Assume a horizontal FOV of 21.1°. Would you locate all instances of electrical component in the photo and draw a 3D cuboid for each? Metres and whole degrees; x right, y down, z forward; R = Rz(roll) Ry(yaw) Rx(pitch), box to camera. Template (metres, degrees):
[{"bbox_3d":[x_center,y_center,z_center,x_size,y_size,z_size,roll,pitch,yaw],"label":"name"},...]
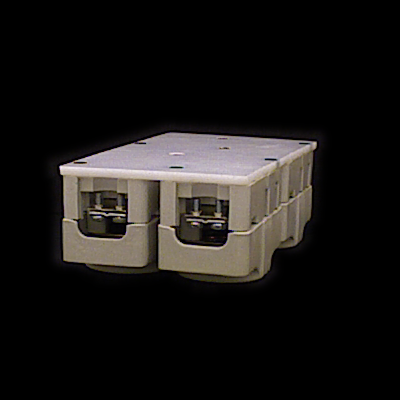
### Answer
[{"bbox_3d":[0.000,0.000,0.644,0.105,0.061,0.185,4,10,17],"label":"electrical component"}]
